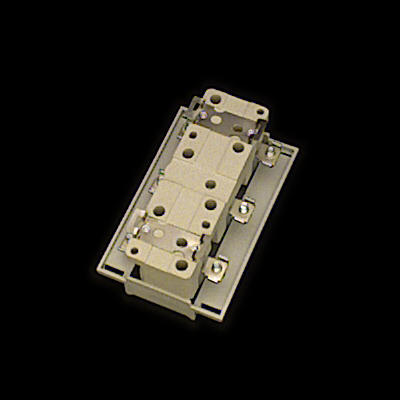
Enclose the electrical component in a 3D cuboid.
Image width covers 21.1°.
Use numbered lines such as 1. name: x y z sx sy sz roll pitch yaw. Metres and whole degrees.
1. electrical component: 0.000 0.000 0.634 0.078 0.122 0.063 21 -25 11
